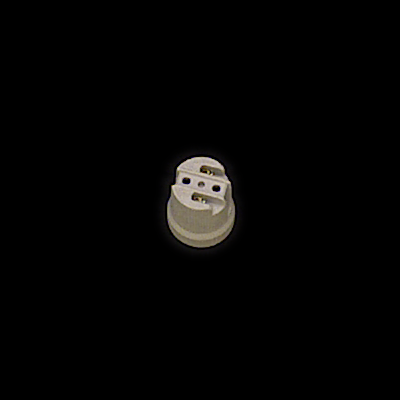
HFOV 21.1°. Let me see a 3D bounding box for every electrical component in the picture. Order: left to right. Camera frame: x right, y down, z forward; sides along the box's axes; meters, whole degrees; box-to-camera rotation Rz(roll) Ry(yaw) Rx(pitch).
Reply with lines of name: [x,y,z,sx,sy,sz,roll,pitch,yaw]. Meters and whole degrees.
electrical component: [0.000,0.000,0.632,0.040,0.040,0.046,0,-27,0]
